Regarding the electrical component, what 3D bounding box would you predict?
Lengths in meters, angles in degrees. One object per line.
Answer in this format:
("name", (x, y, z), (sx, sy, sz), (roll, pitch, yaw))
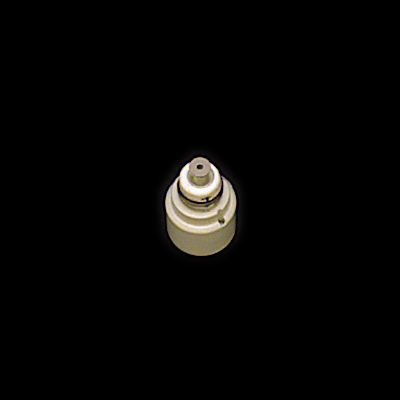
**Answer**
("electrical component", (0.000, 0.000, 0.618), (0.040, 0.040, 0.078), (0, -28, 1))
